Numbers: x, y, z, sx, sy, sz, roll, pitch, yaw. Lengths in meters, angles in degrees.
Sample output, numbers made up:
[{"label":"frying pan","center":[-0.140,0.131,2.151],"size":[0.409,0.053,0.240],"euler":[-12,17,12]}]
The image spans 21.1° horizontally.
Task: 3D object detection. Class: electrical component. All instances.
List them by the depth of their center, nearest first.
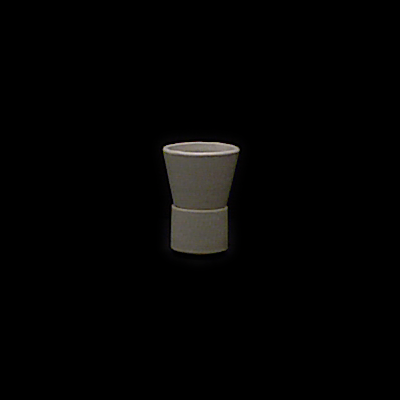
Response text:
[{"label":"electrical component","center":[0.000,0.000,0.642],"size":[0.044,0.066,0.044],"euler":[1,12,0]}]
